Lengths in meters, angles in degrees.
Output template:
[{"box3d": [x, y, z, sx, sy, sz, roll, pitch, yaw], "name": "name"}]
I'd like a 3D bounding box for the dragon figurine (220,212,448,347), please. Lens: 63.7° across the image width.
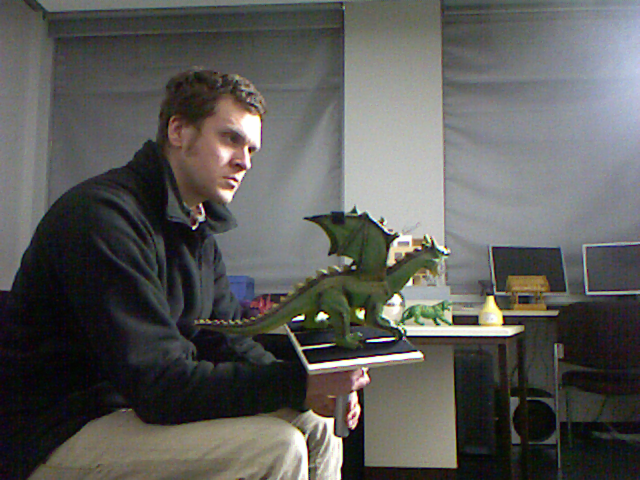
[{"box3d": [0.036, 0.061, 0.897, 0.411, 0.239, 0.124, -2, 22, -14], "name": "dragon figurine"}]
